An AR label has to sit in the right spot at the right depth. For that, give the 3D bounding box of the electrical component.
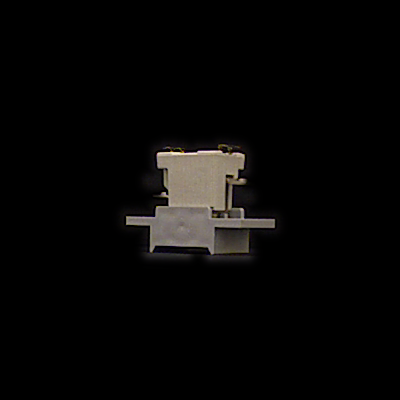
[{"bbox_3d":[0.000,0.000,0.649,0.080,0.064,0.042,2,1,31],"label":"electrical component"}]
